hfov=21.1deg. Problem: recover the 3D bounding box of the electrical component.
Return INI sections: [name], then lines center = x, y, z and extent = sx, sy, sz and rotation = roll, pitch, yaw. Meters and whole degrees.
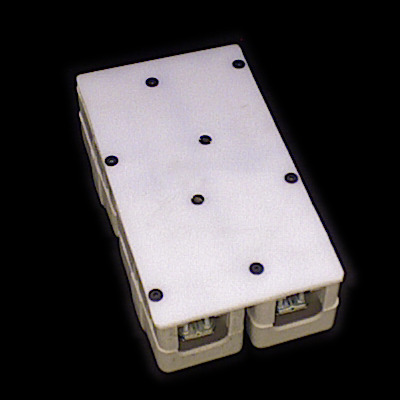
[electrical component]
center = 0.000, 0.000, 0.627
extent = 0.106, 0.185, 0.060
rotation = -13, -37, -11
